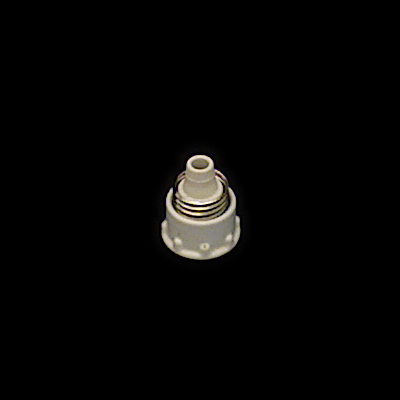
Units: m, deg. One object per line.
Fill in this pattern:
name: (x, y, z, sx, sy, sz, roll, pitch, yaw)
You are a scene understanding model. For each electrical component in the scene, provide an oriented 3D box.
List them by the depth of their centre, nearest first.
electrical component: (0.000, 0.000, 0.636, 0.048, 0.062, 0.047, 0, 43, 1)
